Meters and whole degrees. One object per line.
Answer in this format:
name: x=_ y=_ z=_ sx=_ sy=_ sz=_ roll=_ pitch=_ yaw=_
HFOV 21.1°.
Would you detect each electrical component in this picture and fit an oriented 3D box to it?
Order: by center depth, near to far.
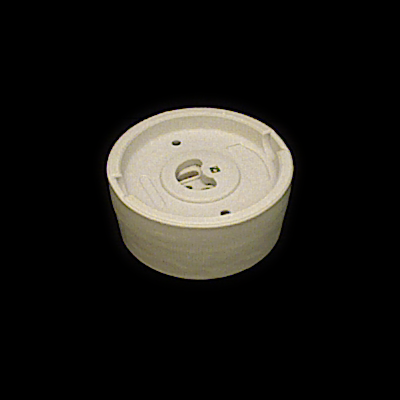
electrical component: x=0.000 y=0.000 z=0.641 sx=0.108 sy=0.061 sz=0.106 roll=1 pitch=43 yaw=0
